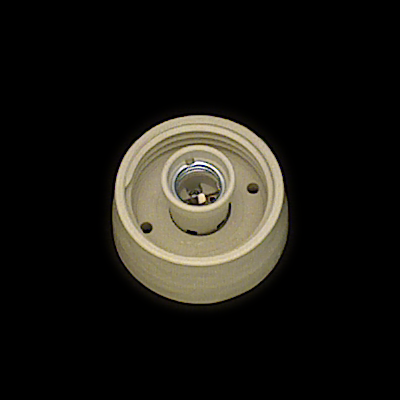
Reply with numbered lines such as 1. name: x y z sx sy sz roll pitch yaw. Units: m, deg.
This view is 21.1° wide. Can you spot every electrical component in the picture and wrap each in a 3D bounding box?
1. electrical component: 0.000 0.000 0.634 0.108 0.108 0.060 0 -26 0
